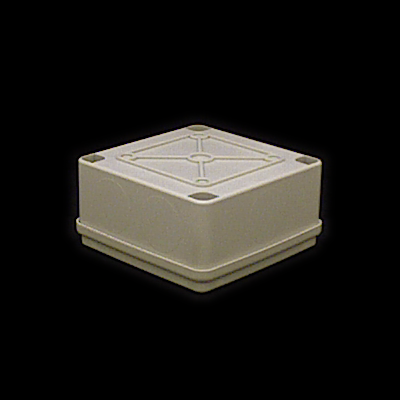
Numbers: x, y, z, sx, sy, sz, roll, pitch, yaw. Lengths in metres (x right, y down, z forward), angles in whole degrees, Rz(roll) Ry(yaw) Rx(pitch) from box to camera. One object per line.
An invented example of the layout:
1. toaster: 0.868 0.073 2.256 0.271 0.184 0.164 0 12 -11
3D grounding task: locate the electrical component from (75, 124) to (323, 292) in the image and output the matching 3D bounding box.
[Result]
1. electrical component: 0.000 0.000 0.637 0.108 0.057 0.108 20 28 40
